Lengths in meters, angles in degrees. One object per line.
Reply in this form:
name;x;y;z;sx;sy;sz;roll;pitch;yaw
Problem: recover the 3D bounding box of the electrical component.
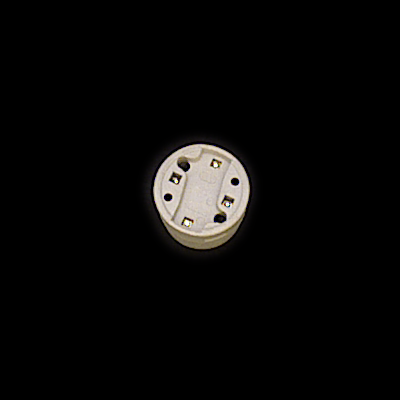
electrical component;0.000;0.000;0.634;0.055;0.056;0.047;0;-17;1
